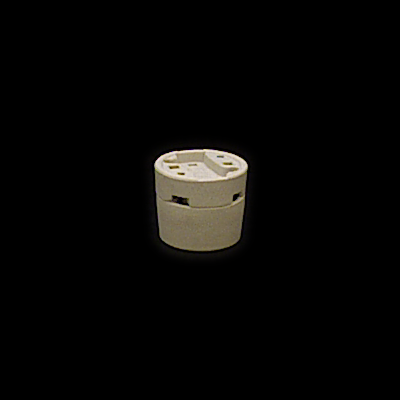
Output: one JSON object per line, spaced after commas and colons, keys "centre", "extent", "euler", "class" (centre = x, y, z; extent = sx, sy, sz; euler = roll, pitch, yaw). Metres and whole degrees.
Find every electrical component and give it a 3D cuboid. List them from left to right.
{"centre": [0.000, 0.000, 0.641], "extent": [0.055, 0.047, 0.055], "euler": [1, 21, 0], "class": "electrical component"}
